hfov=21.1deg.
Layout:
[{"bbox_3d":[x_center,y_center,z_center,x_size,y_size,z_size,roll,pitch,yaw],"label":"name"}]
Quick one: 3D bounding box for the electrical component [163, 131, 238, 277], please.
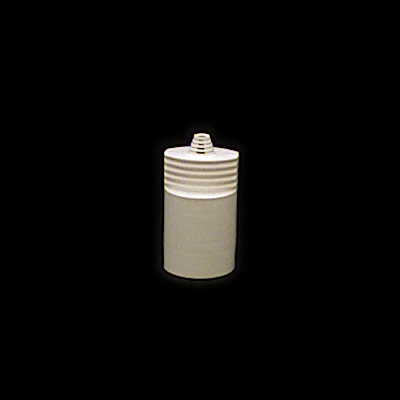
[{"bbox_3d":[0.000,0.000,0.635,0.043,0.082,0.042,1,21,0],"label":"electrical component"}]
